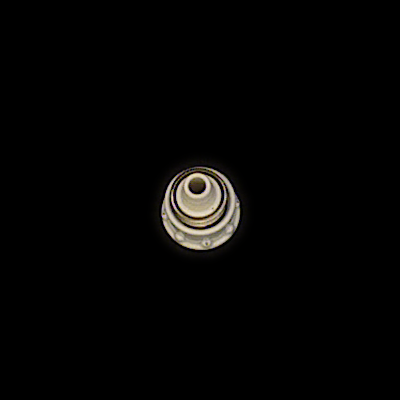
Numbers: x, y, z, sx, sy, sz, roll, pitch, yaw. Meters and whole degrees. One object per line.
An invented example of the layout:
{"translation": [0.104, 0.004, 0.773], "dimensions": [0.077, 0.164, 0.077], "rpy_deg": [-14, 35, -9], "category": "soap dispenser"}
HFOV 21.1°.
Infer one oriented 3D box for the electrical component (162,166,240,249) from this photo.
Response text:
{"translation": [0.000, 0.000, 0.633], "dimensions": [0.048, 0.048, 0.061], "rpy_deg": [0, -17, 1], "category": "electrical component"}
